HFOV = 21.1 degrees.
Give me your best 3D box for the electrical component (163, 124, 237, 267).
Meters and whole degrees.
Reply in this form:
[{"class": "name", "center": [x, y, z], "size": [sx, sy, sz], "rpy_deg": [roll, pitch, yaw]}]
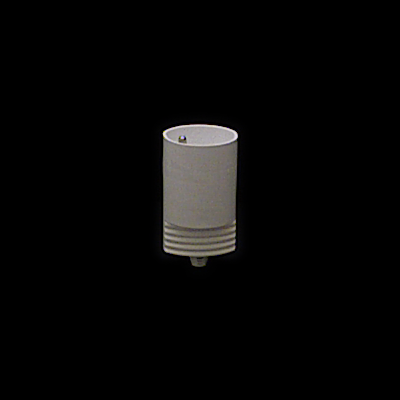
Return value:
[{"class": "electrical component", "center": [0.000, 0.000, 0.632], "size": [0.043, 0.082, 0.042], "rpy_deg": [0, 20, 0]}]
